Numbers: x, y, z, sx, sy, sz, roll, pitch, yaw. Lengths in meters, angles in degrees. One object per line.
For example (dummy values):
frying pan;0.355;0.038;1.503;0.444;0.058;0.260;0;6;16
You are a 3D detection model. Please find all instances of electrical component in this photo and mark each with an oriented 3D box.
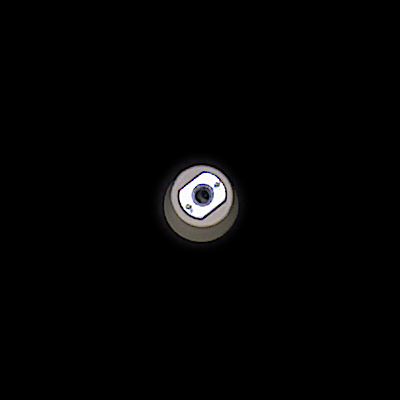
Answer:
electrical component;0.000;0.000;0.625;0.044;0.044;0.065;0;-5;0
